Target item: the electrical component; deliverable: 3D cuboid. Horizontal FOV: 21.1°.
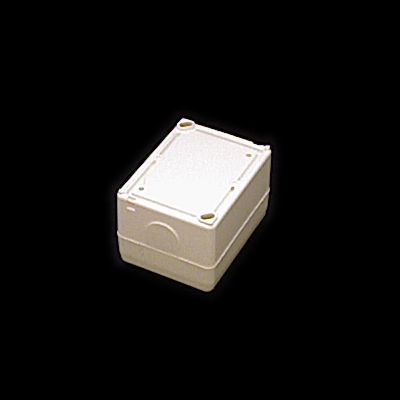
[{"bbox_3d":[0.000,0.000,0.631,0.061,0.061,0.095,19,44,19],"label":"electrical component"}]
